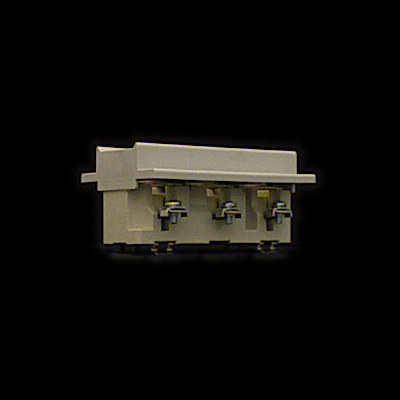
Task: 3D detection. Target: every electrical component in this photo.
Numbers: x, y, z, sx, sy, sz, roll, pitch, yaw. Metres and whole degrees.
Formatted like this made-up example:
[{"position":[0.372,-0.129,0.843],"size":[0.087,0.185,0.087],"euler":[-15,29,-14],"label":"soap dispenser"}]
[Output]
[{"position":[0.000,0.000,0.662],"size":[0.122,0.063,0.078],"euler":[1,0,-37],"label":"electrical component"}]
